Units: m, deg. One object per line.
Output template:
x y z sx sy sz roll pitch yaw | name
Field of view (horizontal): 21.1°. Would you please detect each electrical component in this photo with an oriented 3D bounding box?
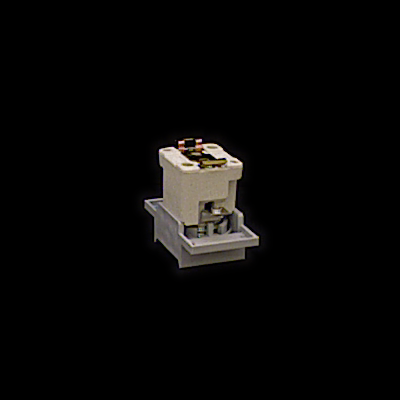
0.000 0.000 0.638 0.042 0.064 0.080 -8 22 -22 | electrical component
